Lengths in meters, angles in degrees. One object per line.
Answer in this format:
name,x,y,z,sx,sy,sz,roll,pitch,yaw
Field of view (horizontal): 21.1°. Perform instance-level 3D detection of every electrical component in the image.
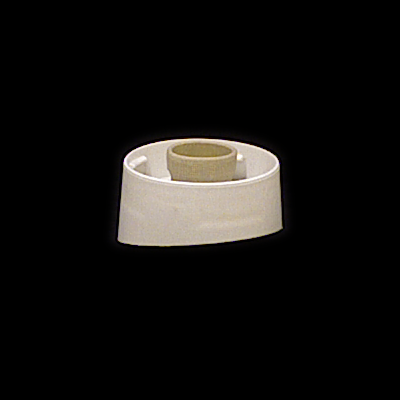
electrical component,0.000,0.000,0.638,0.099,0.065,0.097,1,20,0
